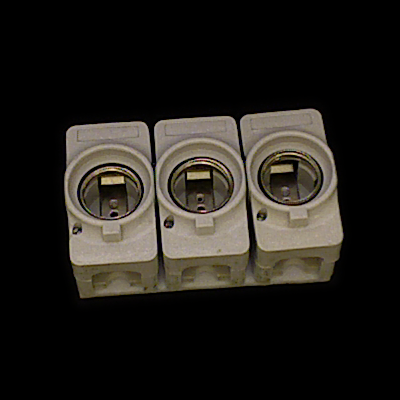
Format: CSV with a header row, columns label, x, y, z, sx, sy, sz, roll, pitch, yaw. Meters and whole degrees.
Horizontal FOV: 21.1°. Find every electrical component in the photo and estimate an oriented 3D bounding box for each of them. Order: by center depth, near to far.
label,x,y,z,sx,sy,sz,roll,pitch,yaw
electrical component,0.000,0.000,0.631,0.150,0.089,0.062,-5,-27,-2
